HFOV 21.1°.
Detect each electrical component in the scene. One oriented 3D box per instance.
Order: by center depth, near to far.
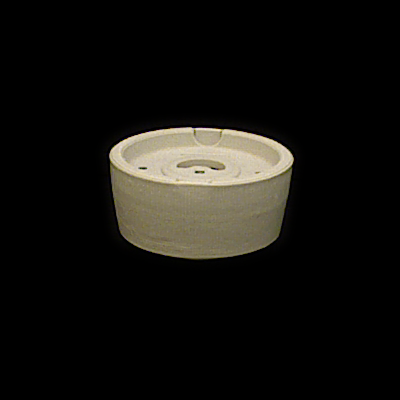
[{"bbox_3d":[0.000,0.000,0.642,0.108,0.061,0.106,1,21,0],"label":"electrical component"}]
